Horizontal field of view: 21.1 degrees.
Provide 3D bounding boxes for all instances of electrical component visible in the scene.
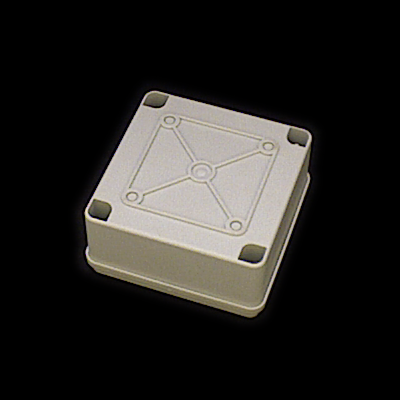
[{"bbox_3d":[0.000,0.000,0.631,0.108,0.108,0.056,16,-36,11],"label":"electrical component"}]
